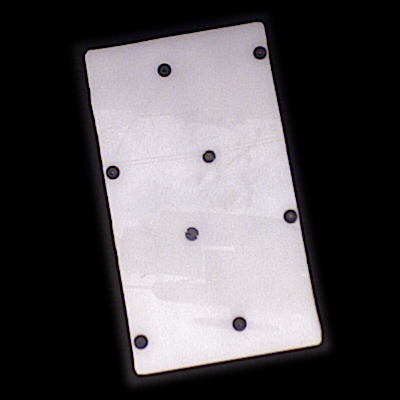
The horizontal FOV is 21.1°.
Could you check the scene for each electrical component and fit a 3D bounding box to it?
[{"bbox_3d":[0.000,0.000,0.626,0.105,0.187,0.060,-10,-7,-1],"label":"electrical component"}]
